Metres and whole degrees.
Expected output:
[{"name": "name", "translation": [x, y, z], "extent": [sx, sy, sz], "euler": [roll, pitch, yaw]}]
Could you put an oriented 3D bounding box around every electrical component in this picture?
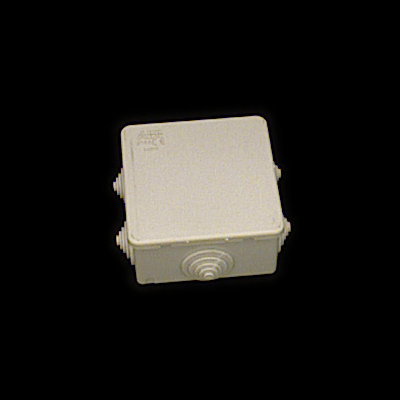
[{"name": "electrical component", "translation": [0.000, 0.000, 0.640], "extent": [0.100, 0.099, 0.049], "euler": [-4, -37, -4]}]
